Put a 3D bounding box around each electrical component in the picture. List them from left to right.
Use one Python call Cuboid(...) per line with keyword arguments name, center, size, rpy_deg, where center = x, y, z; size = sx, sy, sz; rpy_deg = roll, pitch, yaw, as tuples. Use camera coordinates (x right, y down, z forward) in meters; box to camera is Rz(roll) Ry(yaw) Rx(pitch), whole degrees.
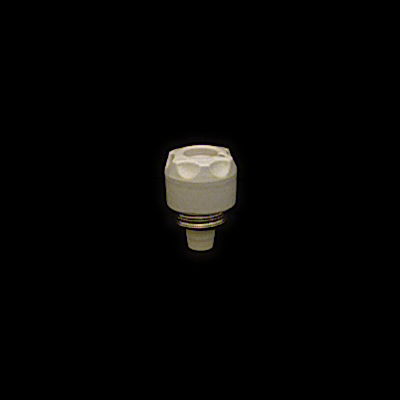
Cuboid(name="electrical component", center=(0.000, 0.000, 0.645), size=(0.043, 0.063, 0.043), rpy_deg=(0, 22, 1))
